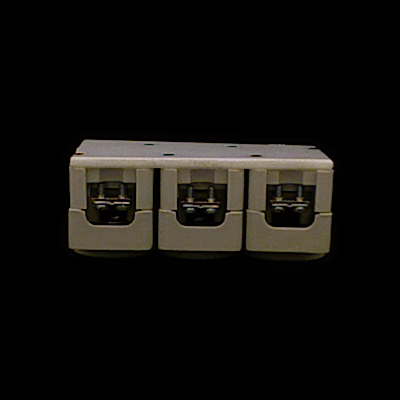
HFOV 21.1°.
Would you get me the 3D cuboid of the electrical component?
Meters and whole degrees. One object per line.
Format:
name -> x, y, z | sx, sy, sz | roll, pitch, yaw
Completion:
electrical component -> 0.000, 0.000, 0.653 | 0.150, 0.062, 0.088 | 1, 10, -1
